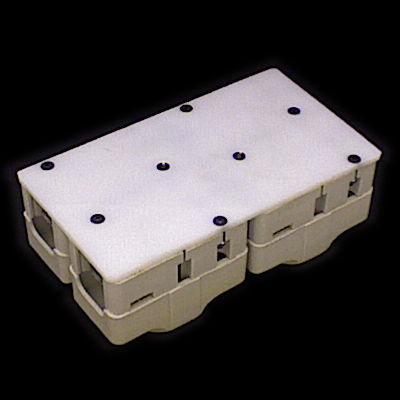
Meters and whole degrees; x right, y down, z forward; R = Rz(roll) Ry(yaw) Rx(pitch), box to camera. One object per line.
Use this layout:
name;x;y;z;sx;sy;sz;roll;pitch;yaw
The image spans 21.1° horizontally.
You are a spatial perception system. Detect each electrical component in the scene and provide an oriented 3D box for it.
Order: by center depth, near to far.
electrical component;0.000;0.000;0.629;0.186;0.061;0.104;-24;48;-25
